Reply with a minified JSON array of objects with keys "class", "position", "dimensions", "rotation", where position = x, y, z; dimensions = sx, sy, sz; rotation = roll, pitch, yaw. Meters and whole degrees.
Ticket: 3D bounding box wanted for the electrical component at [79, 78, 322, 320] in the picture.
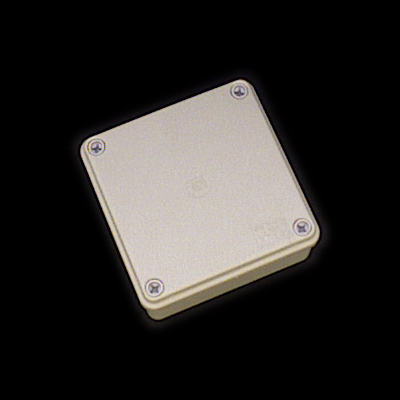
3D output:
[{"class":"electrical component","position":[0.000,0.000,0.629],"dimensions":[0.109,0.109,0.056],"rotation":[-22,-16,-7]}]
